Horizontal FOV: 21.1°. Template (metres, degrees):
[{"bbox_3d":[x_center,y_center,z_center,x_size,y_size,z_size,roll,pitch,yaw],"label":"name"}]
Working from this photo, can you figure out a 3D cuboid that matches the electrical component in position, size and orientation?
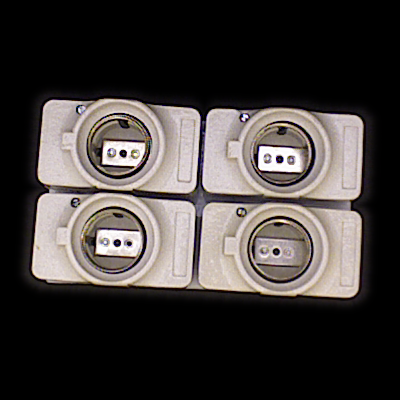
[{"bbox_3d":[0.000,0.000,0.626,0.186,0.106,0.060,3,-7,1],"label":"electrical component"}]
